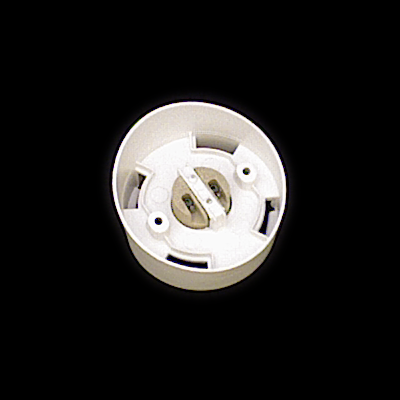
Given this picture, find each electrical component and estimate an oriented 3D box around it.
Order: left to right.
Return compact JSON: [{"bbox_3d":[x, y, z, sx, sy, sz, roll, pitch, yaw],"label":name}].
[{"bbox_3d":[0.000,0.000,0.624,0.099,0.099,0.064,0,-28,1],"label":"electrical component"}]
